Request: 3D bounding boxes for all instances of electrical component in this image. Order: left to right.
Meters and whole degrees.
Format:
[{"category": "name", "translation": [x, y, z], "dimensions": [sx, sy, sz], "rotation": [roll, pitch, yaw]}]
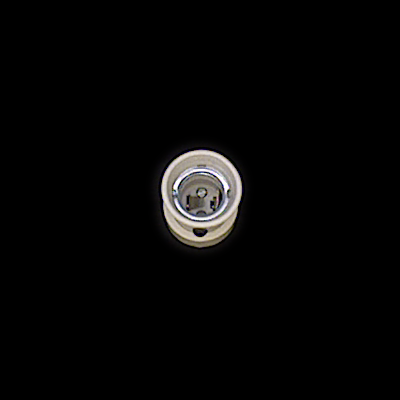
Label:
[{"category": "electrical component", "translation": [0.000, 0.000, 0.628], "dimensions": [0.045, 0.045, 0.055], "rotation": [0, -16, 0]}]
